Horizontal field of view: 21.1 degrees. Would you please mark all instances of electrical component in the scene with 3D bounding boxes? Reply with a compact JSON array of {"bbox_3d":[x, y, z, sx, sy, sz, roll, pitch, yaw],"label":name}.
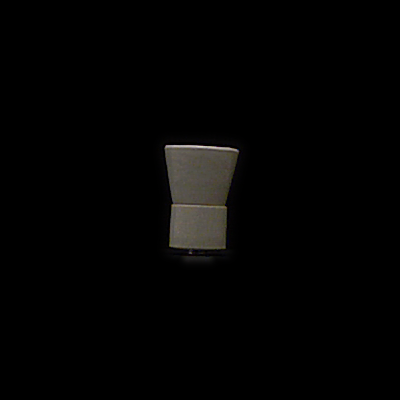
[{"bbox_3d":[0.000,0.000,0.650,0.044,0.065,0.044,2,1,0],"label":"electrical component"}]
